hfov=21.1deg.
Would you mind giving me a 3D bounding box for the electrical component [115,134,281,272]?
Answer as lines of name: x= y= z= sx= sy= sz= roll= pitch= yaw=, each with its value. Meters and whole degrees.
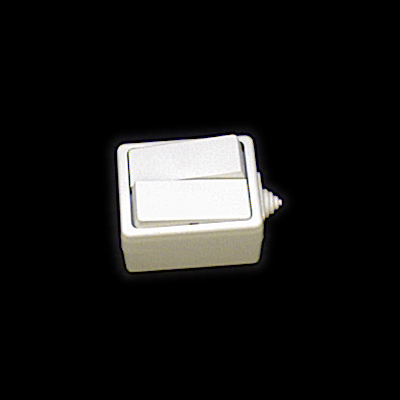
electrical component: x=0.000 y=0.000 z=0.627 sx=0.096 sy=0.062 sz=0.061 roll=-4 pitch=-28 yaw=-2
